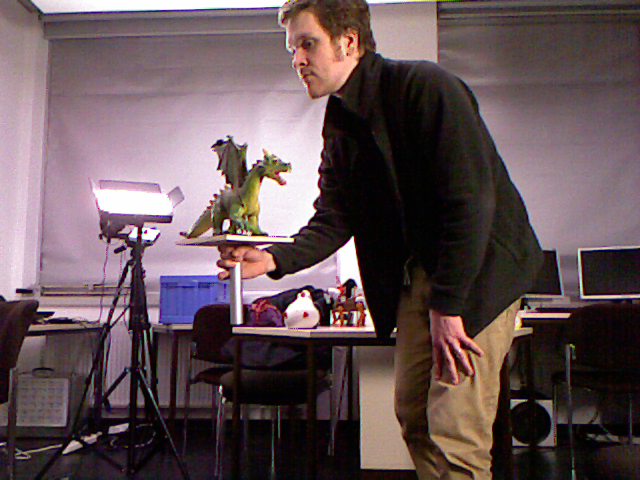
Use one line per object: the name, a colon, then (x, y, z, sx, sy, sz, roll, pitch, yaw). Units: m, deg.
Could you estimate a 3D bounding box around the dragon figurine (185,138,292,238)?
dragon figurine: (-0.227, -0.127, 1.264, 0.410, 0.244, 0.122, -3, -3, 41)
